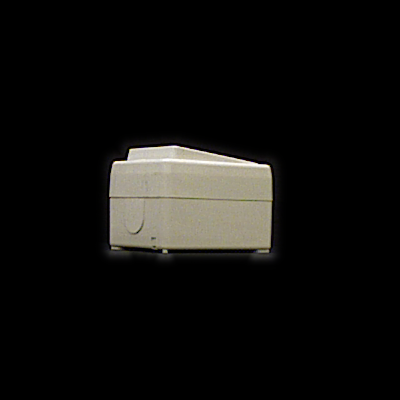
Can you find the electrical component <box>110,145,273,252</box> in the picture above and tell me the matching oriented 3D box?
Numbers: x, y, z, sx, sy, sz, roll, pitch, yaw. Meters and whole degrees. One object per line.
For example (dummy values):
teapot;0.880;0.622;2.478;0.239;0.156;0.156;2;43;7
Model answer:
electrical component;0.000;0.000;0.651;0.096;0.061;0.061;1;0;-36
